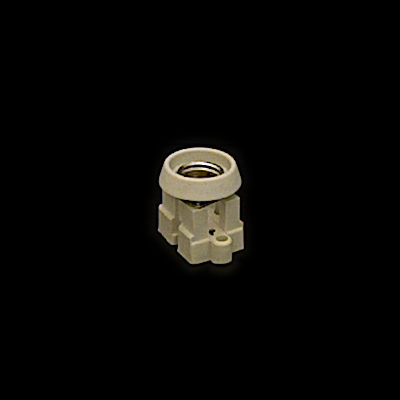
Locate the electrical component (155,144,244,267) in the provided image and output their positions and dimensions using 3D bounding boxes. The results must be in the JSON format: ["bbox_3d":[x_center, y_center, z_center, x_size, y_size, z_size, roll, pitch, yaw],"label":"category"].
[{"bbox_3d":[0.000,0.000,0.643,0.049,0.056,0.065,-16,36,-28],"label":"electrical component"}]
